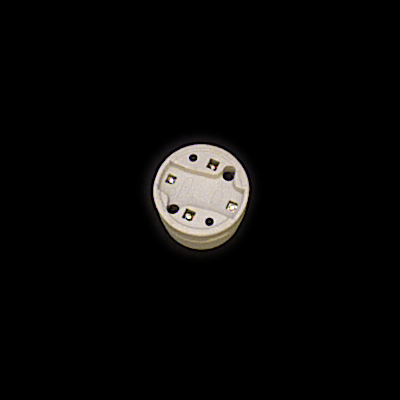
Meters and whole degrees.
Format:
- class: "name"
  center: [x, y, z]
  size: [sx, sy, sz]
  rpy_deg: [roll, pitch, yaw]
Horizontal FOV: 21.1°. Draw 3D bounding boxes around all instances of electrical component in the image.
- class: "electrical component"
  center: [0.000, 0.000, 0.635]
  size: [0.055, 0.056, 0.047]
  rpy_deg: [0, -17, 0]
